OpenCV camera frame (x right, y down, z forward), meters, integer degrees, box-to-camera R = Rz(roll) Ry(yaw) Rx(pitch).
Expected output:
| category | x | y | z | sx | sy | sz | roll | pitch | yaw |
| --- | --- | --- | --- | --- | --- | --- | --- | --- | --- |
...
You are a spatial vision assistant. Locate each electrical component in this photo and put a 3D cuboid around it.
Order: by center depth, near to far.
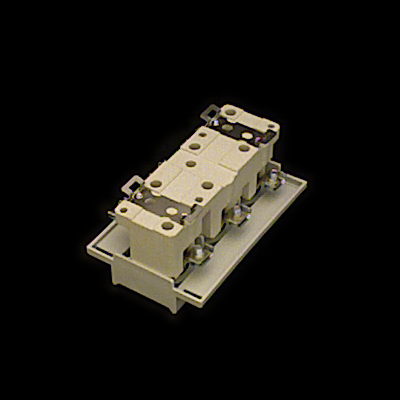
| category | x | y | z | sx | sy | sz | roll | pitch | yaw |
| --- | --- | --- | --- | --- | --- | --- | --- | --- | --- |
| electrical component | 0.000 | 0.000 | 0.637 | 0.078 | 0.063 | 0.121 | 24 | 47 | 23 |
